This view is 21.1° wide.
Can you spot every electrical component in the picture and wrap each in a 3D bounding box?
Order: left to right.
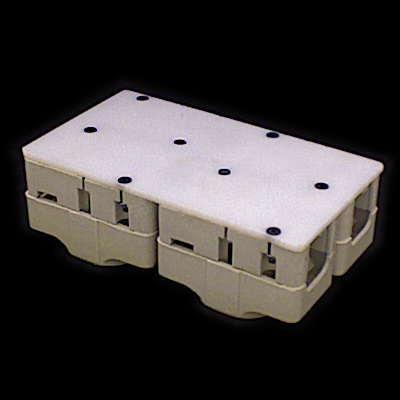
[{"bbox_3d":[0.000,0.000,0.633,0.185,0.061,0.105,19,35,27],"label":"electrical component"}]
